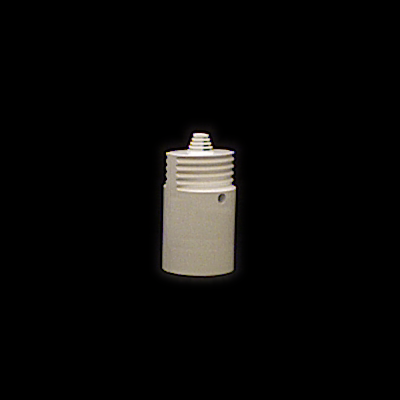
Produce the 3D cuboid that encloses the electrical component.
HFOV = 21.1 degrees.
[{"bbox_3d":[0.000,0.000,0.642,0.043,0.081,0.043,1,11,0],"label":"electrical component"}]
